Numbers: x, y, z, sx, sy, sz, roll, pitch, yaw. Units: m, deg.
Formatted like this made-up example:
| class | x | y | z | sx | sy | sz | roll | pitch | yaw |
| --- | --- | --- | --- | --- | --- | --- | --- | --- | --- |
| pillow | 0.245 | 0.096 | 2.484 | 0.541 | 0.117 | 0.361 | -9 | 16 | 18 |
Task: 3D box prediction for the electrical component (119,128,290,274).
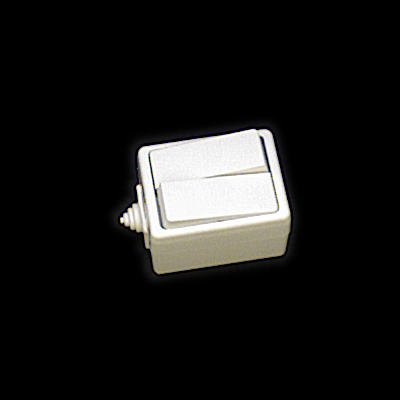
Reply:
| class | x | y | z | sx | sy | sz | roll | pitch | yaw |
| --- | --- | --- | --- | --- | --- | --- | --- | --- | --- |
| electrical component | 0.000 | 0.000 | 0.626 | 0.096 | 0.062 | 0.061 | -8 | -27 | -4 |
